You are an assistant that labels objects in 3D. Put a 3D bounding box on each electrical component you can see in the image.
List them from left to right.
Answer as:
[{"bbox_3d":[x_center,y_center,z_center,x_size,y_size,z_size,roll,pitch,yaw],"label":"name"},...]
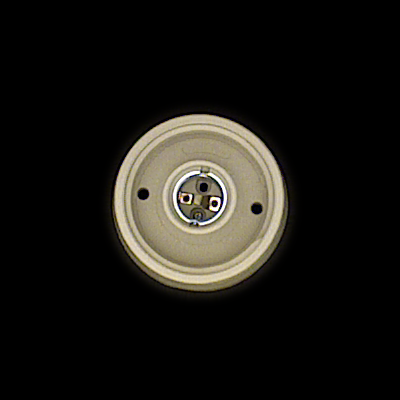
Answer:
[{"bbox_3d":[0.000,0.000,0.634,0.108,0.108,0.060,0,-6,0],"label":"electrical component"}]
